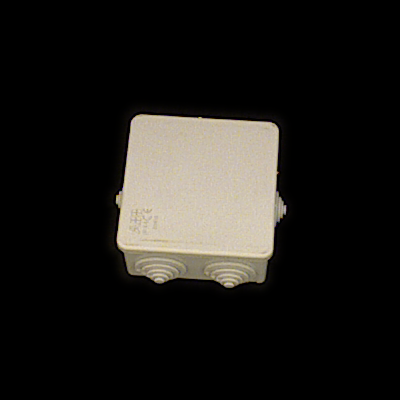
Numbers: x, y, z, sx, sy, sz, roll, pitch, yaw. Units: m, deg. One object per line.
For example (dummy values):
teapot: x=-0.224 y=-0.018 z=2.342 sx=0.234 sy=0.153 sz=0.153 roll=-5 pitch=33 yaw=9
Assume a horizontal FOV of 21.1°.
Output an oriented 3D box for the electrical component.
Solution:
electrical component: x=0.000 y=0.000 z=0.639 sx=0.100 sy=0.100 sz=0.048 roll=4 pitch=-26 yaw=2
